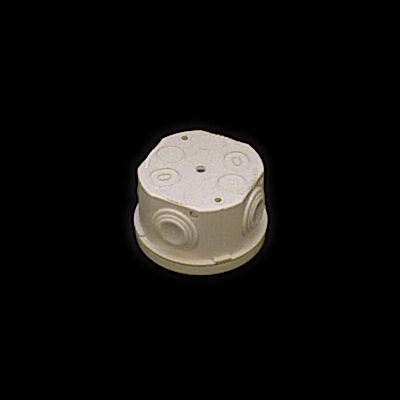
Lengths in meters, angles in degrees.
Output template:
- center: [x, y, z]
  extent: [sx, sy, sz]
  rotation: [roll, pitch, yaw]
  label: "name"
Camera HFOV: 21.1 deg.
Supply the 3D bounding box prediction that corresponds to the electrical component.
- center: [0.000, 0.000, 0.635]
  extent: [0.080, 0.051, 0.079]
  rotation: [0, 42, 0]
  label: "electrical component"
